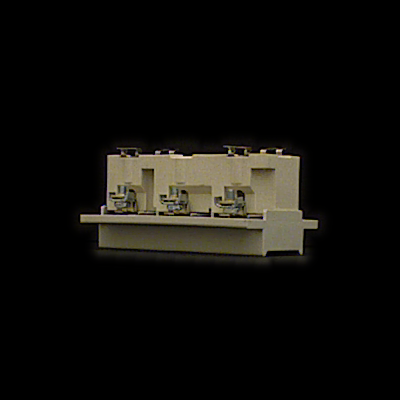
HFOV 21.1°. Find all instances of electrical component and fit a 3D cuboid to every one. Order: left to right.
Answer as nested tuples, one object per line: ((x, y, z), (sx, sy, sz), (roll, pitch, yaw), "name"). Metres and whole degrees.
((0.000, 0.000, 0.654), (0.120, 0.063, 0.079), (1, 1, 35), "electrical component")
